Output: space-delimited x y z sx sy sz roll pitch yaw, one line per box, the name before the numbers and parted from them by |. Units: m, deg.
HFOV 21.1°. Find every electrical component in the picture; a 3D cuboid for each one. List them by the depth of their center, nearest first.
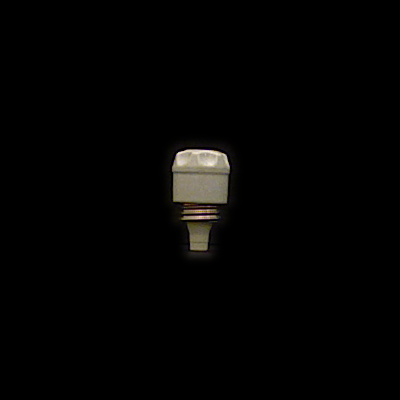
electrical component | 0.000 0.000 0.656 0.035 0.061 0.035 1 2 0
